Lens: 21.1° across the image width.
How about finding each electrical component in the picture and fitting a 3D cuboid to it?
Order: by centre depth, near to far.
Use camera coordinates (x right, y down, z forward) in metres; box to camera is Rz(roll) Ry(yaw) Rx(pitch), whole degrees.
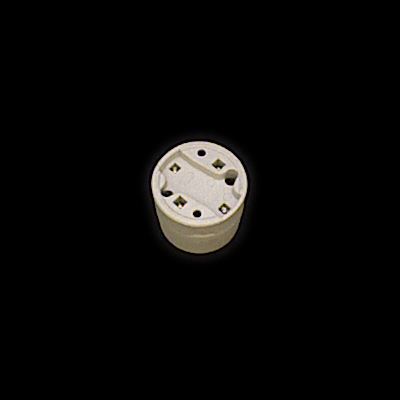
[{"bbox_3d":[0.000,0.000,0.634,0.055,0.056,0.047,0,-27,0],"label":"electrical component"}]
